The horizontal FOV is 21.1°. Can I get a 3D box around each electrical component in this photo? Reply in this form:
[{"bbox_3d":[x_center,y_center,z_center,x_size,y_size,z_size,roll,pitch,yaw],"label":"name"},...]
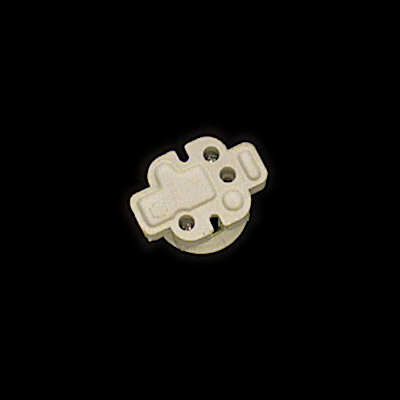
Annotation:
[{"bbox_3d":[0.000,0.000,0.635,0.079,0.058,0.056,-27,-14,-6],"label":"electrical component"}]
